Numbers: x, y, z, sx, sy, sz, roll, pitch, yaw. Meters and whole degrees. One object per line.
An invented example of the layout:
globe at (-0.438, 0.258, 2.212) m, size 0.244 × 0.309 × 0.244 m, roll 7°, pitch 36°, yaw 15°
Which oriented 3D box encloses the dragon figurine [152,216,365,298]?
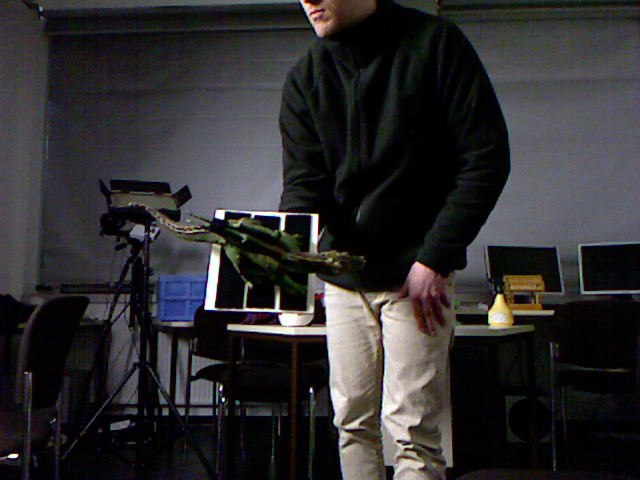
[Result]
dragon figurine at (-0.128, -0.002, 0.873) m, size 0.411 × 0.124 × 0.240 m, roll 15°, pitch -15°, yaw 4°
